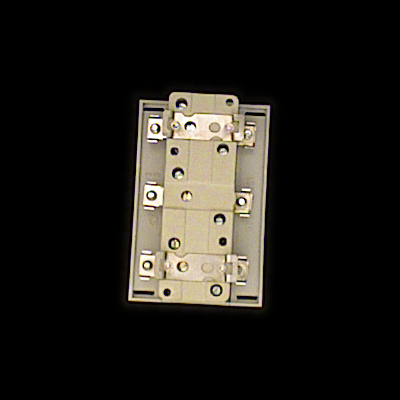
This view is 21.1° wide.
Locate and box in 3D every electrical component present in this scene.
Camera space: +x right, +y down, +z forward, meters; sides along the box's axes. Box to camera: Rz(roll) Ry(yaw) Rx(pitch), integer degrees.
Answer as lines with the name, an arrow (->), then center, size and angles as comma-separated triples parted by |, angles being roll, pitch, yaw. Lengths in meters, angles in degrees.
electrical component -> 0.000, 0.000, 0.635 | 0.079, 0.121, 0.063 | 3, -6, 0
